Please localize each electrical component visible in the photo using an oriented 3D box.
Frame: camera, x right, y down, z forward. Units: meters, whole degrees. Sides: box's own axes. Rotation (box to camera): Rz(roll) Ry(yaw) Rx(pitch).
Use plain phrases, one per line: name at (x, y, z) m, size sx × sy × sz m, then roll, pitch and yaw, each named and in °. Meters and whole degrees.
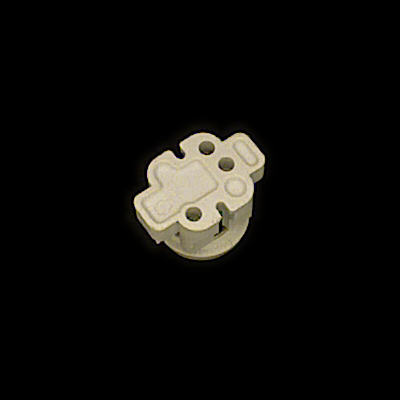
electrical component at (0.000, 0.000, 0.634) m, size 0.079 × 0.057 × 0.056 m, roll -34°, pitch -21°, yaw -14°
